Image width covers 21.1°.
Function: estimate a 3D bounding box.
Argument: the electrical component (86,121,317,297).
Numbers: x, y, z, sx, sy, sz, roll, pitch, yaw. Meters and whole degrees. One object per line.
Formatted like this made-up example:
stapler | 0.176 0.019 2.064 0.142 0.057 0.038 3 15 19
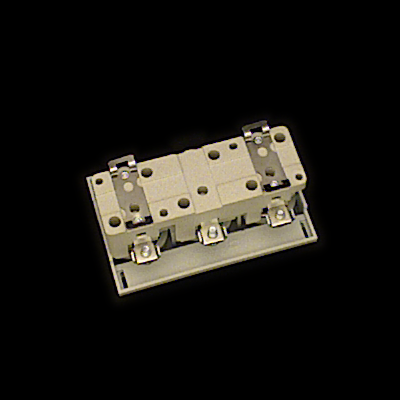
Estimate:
electrical component | 0.000 0.000 0.635 0.122 0.078 0.063 -15 -26 -8
